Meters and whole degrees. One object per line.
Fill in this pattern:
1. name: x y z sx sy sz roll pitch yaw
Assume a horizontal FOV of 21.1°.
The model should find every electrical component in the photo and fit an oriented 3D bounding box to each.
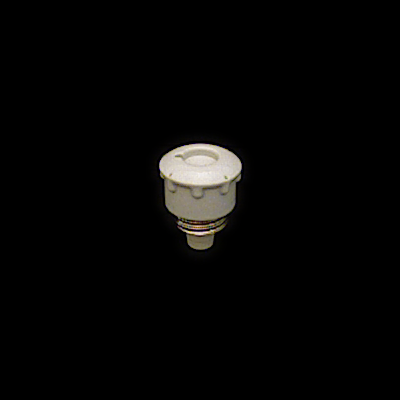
1. electrical component: 0.000 0.000 0.639 0.048 0.063 0.047 1 32 0
